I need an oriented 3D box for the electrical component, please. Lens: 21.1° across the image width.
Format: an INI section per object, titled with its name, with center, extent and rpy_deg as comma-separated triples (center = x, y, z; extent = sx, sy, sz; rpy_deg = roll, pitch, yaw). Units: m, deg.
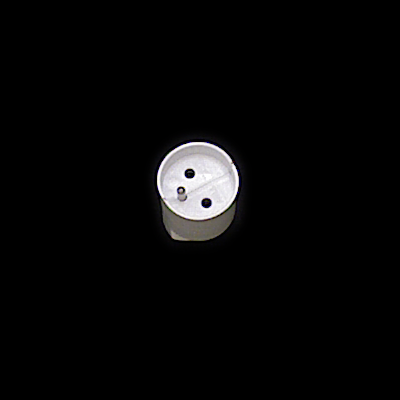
[electrical component]
center = 0.000, 0.000, 0.614
extent = 0.043, 0.043, 0.080
rpy_deg = 0, -17, 1
